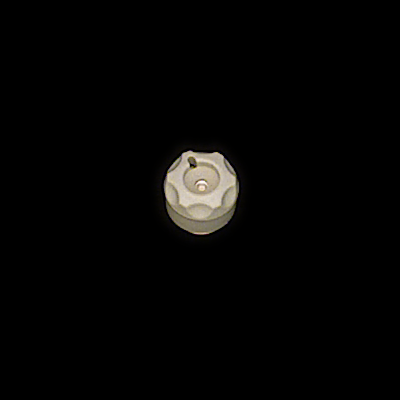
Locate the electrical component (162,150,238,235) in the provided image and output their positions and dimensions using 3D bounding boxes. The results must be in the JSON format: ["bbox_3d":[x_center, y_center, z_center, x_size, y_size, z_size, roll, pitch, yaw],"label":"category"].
[{"bbox_3d":[0.000,0.000,0.634,0.043,0.043,0.062,0,-26,0],"label":"electrical component"}]
